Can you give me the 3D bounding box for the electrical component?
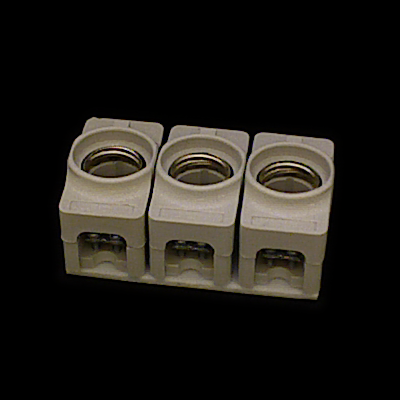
[{"bbox_3d":[0.000,0.000,0.638,0.150,0.063,0.088,6,41,5],"label":"electrical component"}]
